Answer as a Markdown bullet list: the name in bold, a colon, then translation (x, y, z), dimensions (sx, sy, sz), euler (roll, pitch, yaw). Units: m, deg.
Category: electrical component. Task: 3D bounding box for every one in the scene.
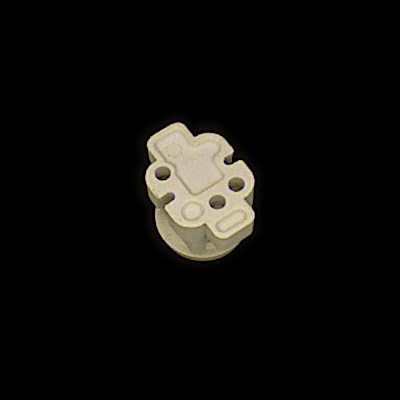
- **electrical component**: translation (0.000, 0.000, 0.636), dimensions (0.058, 0.078, 0.057), euler (-33, -23, -14)
